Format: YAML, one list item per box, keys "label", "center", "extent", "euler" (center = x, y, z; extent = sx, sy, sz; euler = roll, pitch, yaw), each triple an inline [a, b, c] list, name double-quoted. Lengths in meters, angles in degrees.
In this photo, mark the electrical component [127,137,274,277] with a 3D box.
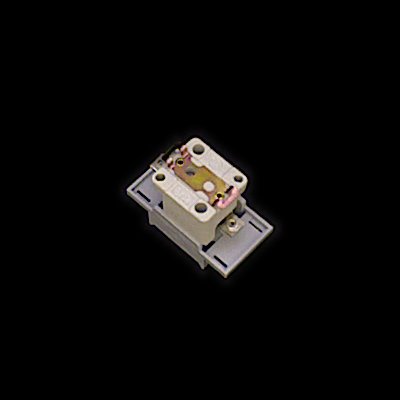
- label: "electrical component"
  center: [0.000, 0.000, 0.626]
  extent: [0.081, 0.042, 0.063]
  euler: [39, -21, 18]
